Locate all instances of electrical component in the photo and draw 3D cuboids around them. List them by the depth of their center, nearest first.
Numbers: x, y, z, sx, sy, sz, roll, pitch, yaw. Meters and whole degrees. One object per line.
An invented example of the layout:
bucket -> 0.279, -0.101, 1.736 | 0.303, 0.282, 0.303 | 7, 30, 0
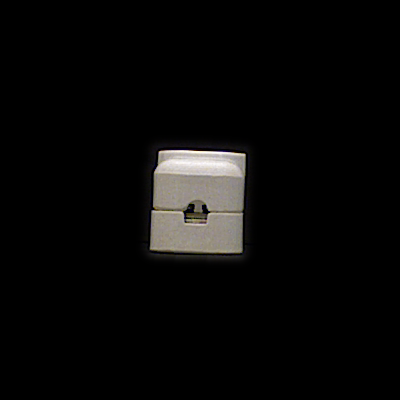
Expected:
electrical component -> 0.000, 0.000, 0.656 | 0.054, 0.059, 0.095 | 2, 0, 2
